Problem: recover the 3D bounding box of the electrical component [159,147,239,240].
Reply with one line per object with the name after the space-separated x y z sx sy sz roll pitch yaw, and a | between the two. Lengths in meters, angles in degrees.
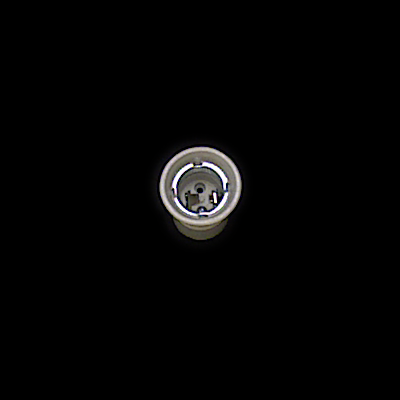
0.000 0.000 0.623 0.044 0.044 0.065 0 -16 0 | electrical component
